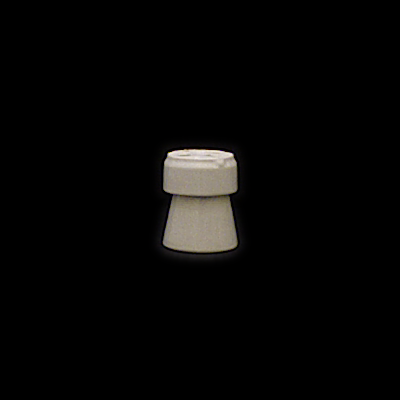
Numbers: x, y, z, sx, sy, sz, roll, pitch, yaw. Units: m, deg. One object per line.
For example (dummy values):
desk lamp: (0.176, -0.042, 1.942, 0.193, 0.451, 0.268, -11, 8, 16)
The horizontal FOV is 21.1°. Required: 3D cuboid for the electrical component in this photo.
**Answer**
electrical component: (0.000, 0.000, 0.644, 0.045, 0.055, 0.044, 1, 11, 0)
